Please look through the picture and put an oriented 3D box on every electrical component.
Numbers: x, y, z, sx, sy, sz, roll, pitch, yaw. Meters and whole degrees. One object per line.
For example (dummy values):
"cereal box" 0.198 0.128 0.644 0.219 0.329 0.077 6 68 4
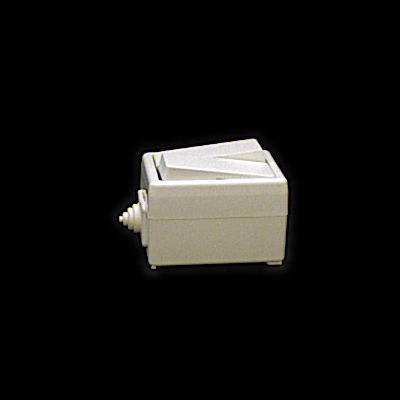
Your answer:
"electrical component" 0.000 0.000 0.638 0.096 0.061 0.061 -1 21 -7
